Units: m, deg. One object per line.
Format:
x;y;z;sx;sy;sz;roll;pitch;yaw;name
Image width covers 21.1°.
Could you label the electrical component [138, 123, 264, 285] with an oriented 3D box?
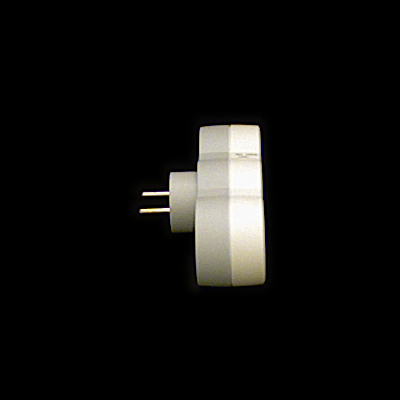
0.000;0.000;0.645;0.074;0.053;0.136;0;32;2;electrical component
